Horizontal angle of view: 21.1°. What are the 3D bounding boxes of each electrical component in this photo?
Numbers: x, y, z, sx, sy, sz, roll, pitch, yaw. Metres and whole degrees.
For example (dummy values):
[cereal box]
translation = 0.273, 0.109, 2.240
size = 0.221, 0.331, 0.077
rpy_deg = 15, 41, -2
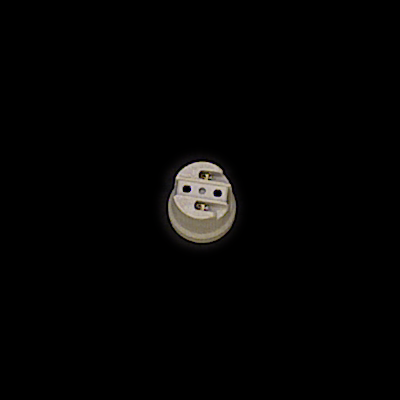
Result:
[electrical component]
translation = 0.000, 0.000, 0.633
size = 0.040, 0.040, 0.046
rpy_deg = 0, -16, 1
